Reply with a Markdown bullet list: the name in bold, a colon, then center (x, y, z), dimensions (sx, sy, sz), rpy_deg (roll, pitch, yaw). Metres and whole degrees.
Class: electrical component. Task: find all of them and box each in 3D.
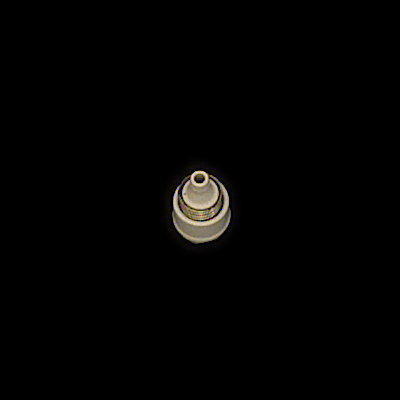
- **electrical component**: center (0.000, 0.000, 0.638), dimensions (0.035, 0.035, 0.061), rpy_deg (0, -26, 2)
